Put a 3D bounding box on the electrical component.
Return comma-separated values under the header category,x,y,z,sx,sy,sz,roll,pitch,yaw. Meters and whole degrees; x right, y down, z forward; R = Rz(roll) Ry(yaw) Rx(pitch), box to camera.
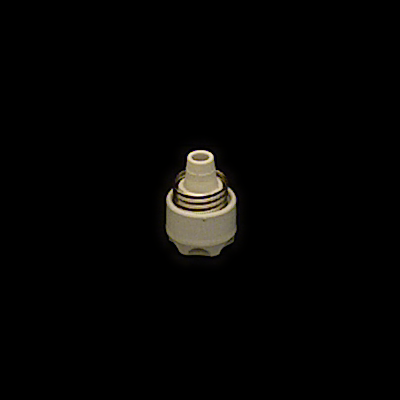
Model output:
category,x,y,z,sx,sy,sz,roll,pitch,yaw
electrical component,0.000,0.000,0.640,0.043,0.063,0.043,0,33,1
